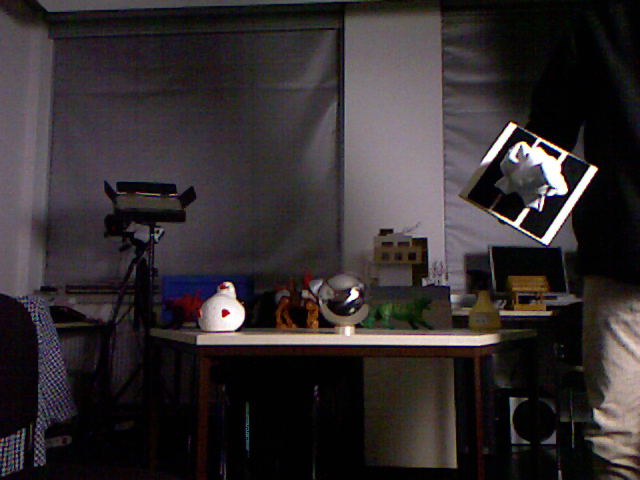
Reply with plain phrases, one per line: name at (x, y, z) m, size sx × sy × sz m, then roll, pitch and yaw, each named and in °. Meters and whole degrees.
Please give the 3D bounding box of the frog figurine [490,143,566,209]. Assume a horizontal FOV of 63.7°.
frog figurine at (0.427, -0.140, 1.028) m, size 0.123 × 0.139 × 0.157 m, roll -37°, pitch -16°, yaw -8°
